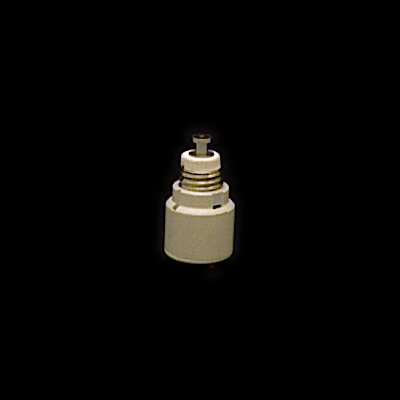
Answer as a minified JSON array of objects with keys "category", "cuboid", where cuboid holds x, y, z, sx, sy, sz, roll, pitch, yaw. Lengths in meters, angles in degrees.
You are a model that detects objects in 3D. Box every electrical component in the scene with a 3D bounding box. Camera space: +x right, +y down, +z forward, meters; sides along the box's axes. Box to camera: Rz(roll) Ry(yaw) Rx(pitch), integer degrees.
[{"category":"electrical component","cuboid":[0.000,0.000,0.635,0.040,0.079,0.039,1,20,0]}]
